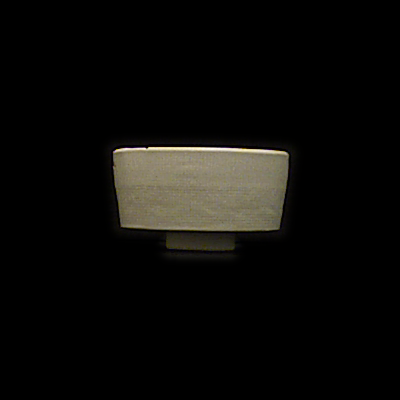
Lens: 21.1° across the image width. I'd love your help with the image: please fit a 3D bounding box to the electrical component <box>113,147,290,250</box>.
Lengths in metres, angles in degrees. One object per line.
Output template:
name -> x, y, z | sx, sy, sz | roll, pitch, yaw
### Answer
electrical component -> 0.000, 0.000, 0.660 | 0.108, 0.060, 0.108 | 1, 1, 1
